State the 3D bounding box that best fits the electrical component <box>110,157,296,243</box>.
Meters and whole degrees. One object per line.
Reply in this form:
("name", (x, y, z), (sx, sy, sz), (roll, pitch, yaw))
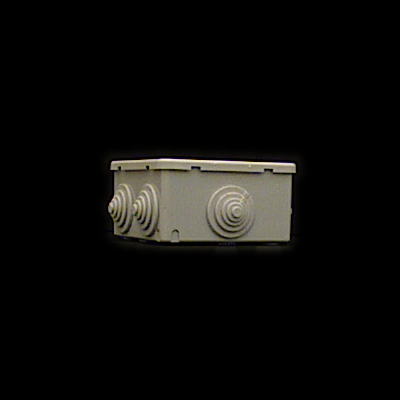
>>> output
("electrical component", (0.000, 0.000, 0.656), (0.101, 0.048, 0.098), (1, 1, -25))
